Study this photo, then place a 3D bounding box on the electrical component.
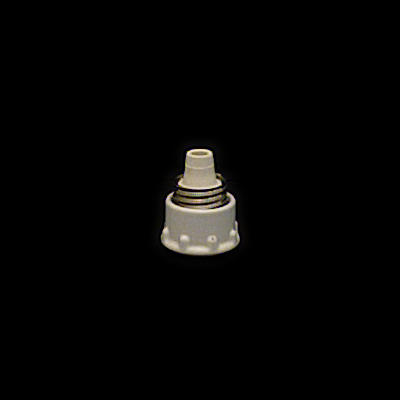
[{"bbox_3d":[0.000,0.000,0.645,0.048,0.063,0.047,0,21,1],"label":"electrical component"}]
